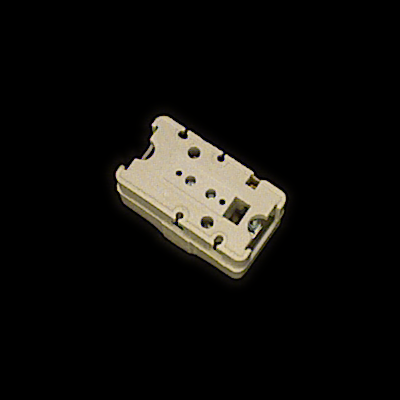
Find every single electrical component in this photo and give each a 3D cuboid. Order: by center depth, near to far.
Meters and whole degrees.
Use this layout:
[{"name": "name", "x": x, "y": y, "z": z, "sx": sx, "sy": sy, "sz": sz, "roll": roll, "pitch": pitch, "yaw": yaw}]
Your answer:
[{"name": "electrical component", "x": 0.000, "y": 0.000, "z": 0.636, "sx": 0.089, "sy": 0.050, "sz": 0.055, "roll": 34, "pitch": -14, "yaw": 9}]
